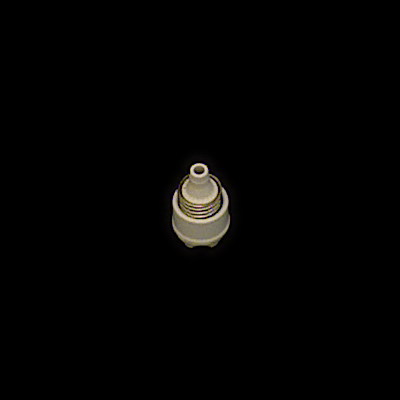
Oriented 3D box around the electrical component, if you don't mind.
[{"bbox_3d":[0.000,0.000,0.639,0.035,0.035,0.062,0,-36,2],"label":"electrical component"}]
